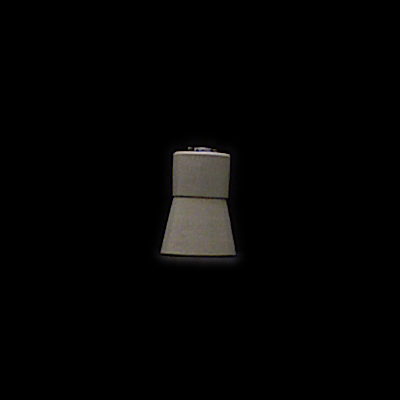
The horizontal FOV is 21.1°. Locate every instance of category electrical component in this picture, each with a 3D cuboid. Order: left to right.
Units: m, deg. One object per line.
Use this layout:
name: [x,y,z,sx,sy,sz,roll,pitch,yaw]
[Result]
electrical component: [0.000,0.000,0.648,0.044,0.065,0.044,2,1,0]
